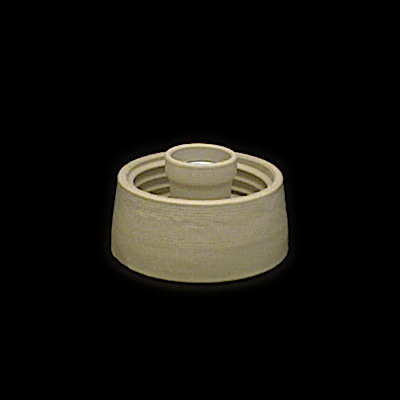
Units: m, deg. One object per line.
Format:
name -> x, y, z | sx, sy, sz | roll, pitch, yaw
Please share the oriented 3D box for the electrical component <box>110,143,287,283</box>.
electrical component -> 0.000, 0.000, 0.644 | 0.108, 0.061, 0.106 | 1, 21, 0
